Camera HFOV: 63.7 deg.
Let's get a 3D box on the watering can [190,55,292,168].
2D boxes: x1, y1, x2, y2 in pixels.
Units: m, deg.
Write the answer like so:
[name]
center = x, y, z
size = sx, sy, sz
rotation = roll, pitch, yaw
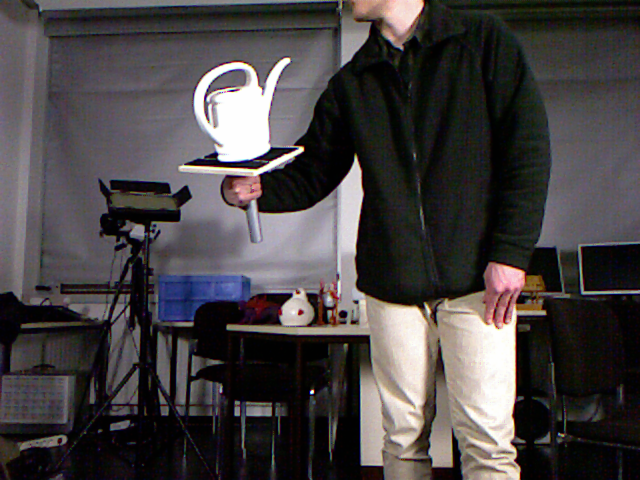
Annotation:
[watering can]
center = -0.155, -0.294, 1.165
size = 0.104, 0.220, 0.354
rotation = 12, 32, 31
